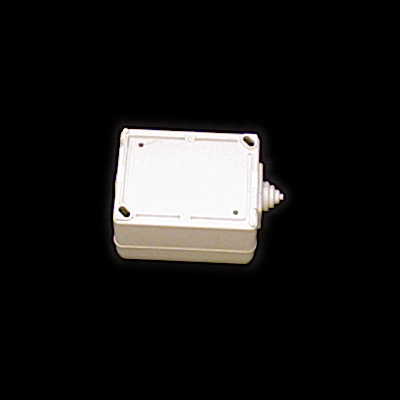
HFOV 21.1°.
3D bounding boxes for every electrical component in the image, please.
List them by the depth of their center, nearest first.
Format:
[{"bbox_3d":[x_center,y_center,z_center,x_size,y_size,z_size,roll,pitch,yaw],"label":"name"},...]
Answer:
[{"bbox_3d":[0.000,0.000,0.626,0.096,0.062,0.060,3,-27,0],"label":"electrical component"}]
